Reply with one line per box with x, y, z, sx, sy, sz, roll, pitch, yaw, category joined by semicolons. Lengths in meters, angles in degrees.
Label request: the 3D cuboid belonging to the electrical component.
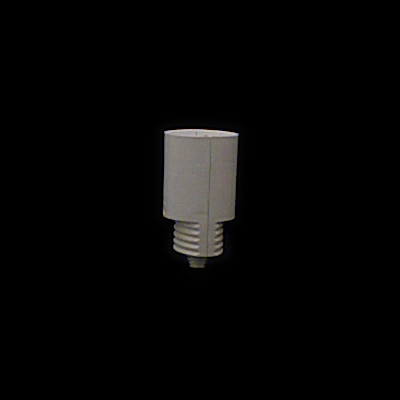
0.000;0.000;0.641;0.043;0.082;0.042;1;12;0;electrical component
